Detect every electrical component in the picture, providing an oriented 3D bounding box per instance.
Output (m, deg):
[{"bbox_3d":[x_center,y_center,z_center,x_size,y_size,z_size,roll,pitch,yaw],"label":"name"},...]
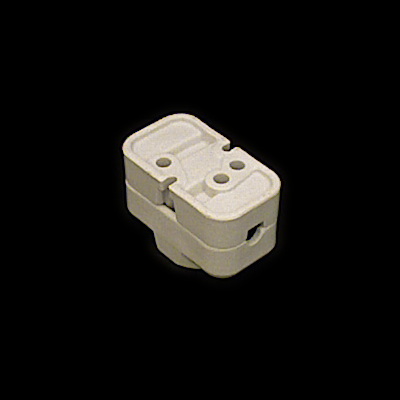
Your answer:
[{"bbox_3d":[0.000,0.000,0.640,0.054,0.060,0.094,-31,51,-30],"label":"electrical component"}]
